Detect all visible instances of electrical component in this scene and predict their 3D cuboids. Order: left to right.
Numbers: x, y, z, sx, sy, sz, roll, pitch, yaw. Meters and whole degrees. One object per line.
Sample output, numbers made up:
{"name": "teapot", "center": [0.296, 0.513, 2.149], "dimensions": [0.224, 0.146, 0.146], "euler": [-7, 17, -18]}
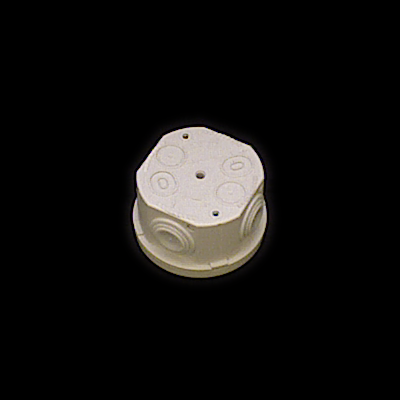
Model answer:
{"name": "electrical component", "center": [0.000, 0.000, 0.632], "dimensions": [0.080, 0.080, 0.051], "euler": [0, -37, -1]}
